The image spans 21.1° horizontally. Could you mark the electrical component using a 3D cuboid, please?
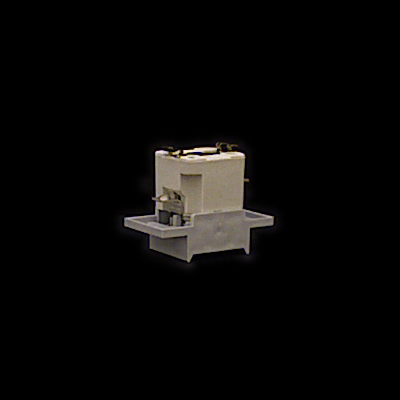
[{"bbox_3d":[0.000,0.000,0.643,0.081,0.064,0.042,-6,13,-35],"label":"electrical component"}]
